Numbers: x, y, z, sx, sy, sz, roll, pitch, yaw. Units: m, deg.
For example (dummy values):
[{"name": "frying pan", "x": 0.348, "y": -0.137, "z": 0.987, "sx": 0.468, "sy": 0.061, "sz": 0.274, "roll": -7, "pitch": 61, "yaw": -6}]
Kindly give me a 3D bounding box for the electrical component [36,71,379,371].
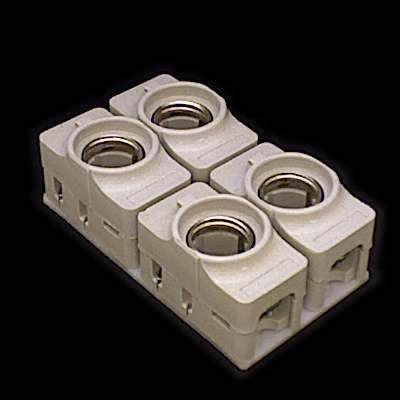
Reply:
[{"name": "electrical component", "x": 0.000, "y": 0.000, "z": 0.629, "sx": 0.105, "sy": 0.061, "sz": 0.184, "roll": -31, "pitch": 51, "yaw": -30}]
